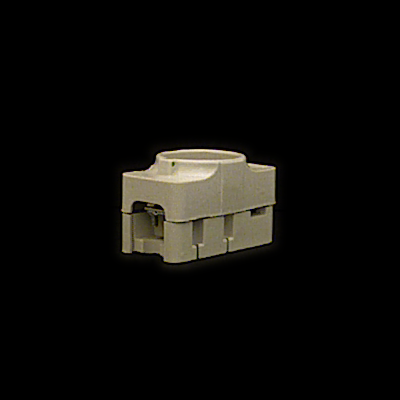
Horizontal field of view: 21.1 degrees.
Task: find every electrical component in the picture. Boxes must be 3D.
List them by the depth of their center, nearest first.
[{"bbox_3d":[0.000,0.000,0.652,0.049,0.056,0.090,11,15,41],"label":"electrical component"}]
